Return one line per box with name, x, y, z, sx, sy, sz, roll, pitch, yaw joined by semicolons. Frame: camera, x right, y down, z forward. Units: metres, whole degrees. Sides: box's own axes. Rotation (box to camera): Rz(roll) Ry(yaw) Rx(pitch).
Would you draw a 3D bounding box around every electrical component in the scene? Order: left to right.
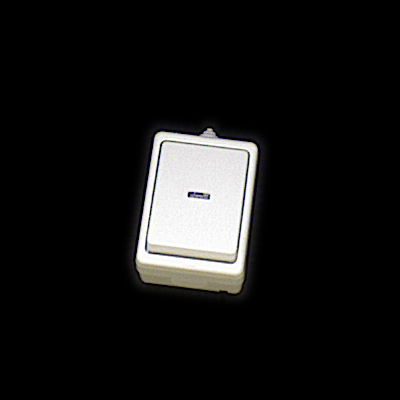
electrical component;0.000;0.000;0.626;0.062;0.096;0.060;7;-17;2
